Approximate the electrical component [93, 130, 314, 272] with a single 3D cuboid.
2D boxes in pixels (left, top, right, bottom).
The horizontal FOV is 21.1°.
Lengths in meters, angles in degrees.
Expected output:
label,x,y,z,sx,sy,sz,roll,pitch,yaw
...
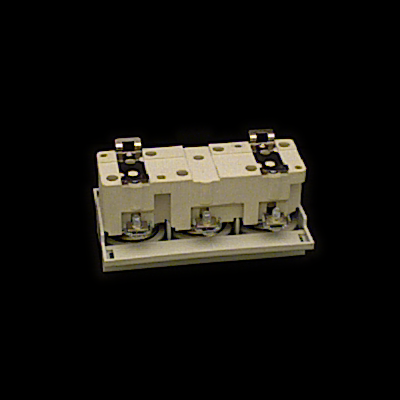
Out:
label,x,y,z,sx,sy,sz,roll,pitch,yaw
electrical component,0.000,0.000,0.639,0.122,0.064,0.077,-5,33,-9
